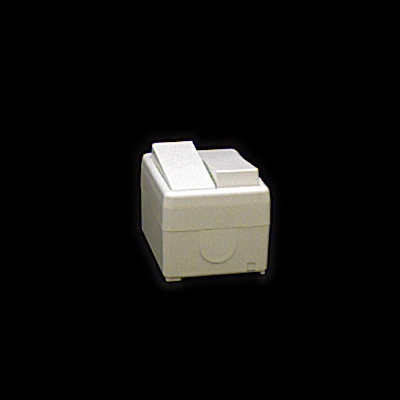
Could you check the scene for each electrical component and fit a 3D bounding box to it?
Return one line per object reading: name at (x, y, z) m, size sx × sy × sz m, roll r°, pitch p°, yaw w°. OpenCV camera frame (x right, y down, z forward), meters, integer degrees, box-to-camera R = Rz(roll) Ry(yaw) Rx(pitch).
electrical component at (0.000, 0.000, 0.641) m, size 0.062 × 0.061 × 0.095 m, roll -4°, pitch 21°, yaw -12°
